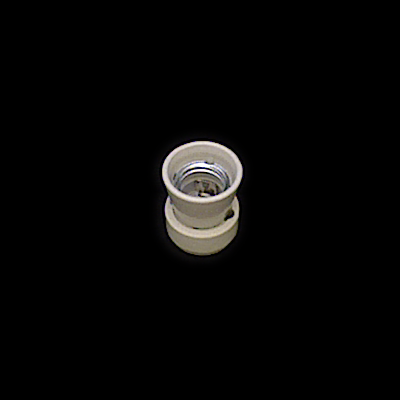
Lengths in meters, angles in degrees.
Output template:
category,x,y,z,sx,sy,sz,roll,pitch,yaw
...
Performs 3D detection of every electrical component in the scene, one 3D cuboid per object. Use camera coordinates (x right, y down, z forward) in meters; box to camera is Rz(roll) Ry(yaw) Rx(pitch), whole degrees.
category,x,y,z,sx,sy,sz,roll,pitch,yaw
electrical component,0.000,0.000,0.630,0.045,0.044,0.055,0,-38,-1
